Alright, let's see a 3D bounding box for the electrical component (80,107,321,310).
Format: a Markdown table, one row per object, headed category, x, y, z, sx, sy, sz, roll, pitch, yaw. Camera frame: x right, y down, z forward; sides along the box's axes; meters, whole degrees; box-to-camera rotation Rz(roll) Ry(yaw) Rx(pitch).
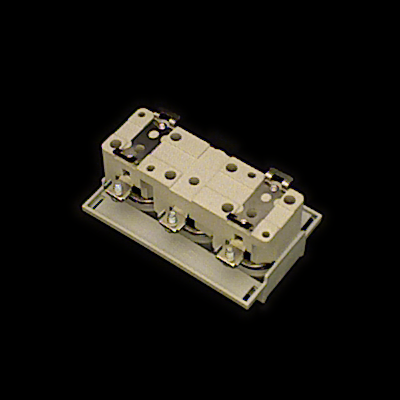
| category | x | y | z | sx | sy | sz | roll | pitch | yaw |
| --- | --- | --- | --- | --- | --- | --- | --- | --- | --- |
| electrical component | 0.000 | 0.000 | 0.637 | 0.120 | 0.079 | 0.063 | 30 | -32 | 20 |
